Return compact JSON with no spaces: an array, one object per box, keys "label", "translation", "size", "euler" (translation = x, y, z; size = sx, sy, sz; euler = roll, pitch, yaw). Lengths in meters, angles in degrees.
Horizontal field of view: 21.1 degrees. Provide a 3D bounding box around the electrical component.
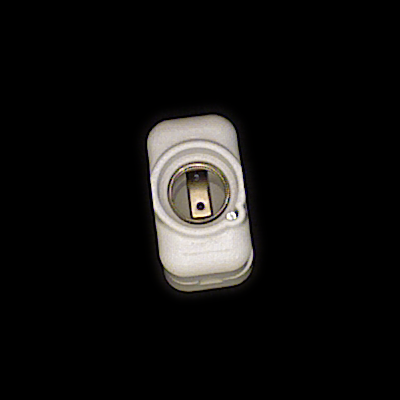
[{"label":"electrical component","translation":[0.000,0.000,0.634],"size":[0.054,0.095,0.059],"euler":[-8,-15,-1]}]
